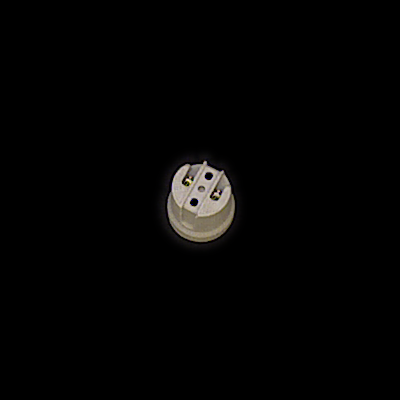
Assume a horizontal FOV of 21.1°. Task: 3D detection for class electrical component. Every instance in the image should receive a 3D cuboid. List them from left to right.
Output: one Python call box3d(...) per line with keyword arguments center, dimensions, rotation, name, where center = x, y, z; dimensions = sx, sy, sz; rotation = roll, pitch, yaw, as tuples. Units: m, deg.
box3d(center=(0.000, 0.000, 0.633), dimensions=(0.040, 0.040, 0.046), rotation=(0, -16, 0), name="electrical component")
